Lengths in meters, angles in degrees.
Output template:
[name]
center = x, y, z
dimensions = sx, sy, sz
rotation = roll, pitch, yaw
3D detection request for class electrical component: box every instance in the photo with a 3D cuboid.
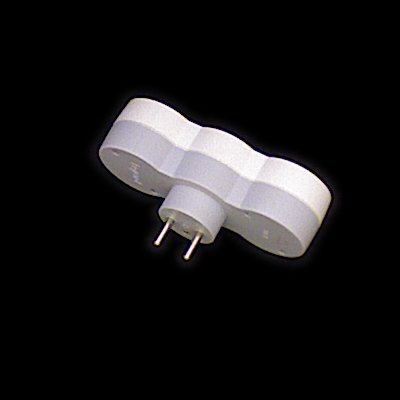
[electrical component]
center = 0.000, 0.000, 0.630
dimensions = 0.138, 0.074, 0.052
rotation = 25, -23, 11
